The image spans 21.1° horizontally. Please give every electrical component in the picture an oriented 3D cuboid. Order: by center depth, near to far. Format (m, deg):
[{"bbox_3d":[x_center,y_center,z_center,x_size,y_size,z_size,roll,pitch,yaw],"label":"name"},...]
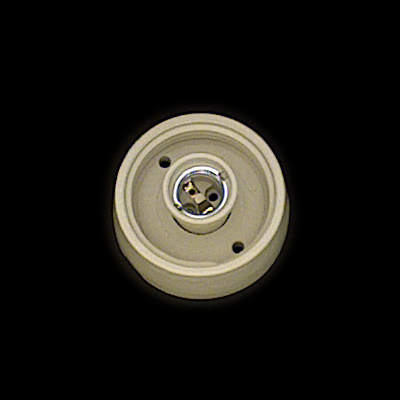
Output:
[{"bbox_3d":[0.000,0.000,0.633,0.108,0.108,0.060,0,-16,0],"label":"electrical component"}]
